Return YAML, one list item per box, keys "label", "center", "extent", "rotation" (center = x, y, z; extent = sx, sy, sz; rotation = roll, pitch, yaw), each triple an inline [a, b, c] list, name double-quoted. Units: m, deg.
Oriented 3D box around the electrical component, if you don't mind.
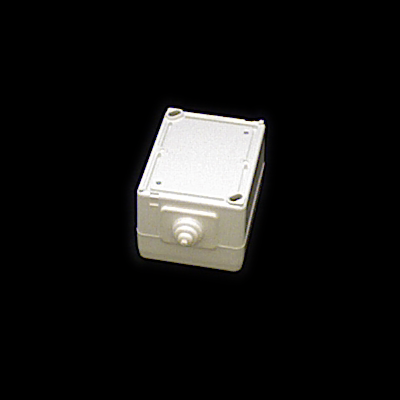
- label: "electrical component"
  center: [0.000, 0.000, 0.624]
  extent: [0.062, 0.061, 0.096]
  rotation: [8, 42, 7]
